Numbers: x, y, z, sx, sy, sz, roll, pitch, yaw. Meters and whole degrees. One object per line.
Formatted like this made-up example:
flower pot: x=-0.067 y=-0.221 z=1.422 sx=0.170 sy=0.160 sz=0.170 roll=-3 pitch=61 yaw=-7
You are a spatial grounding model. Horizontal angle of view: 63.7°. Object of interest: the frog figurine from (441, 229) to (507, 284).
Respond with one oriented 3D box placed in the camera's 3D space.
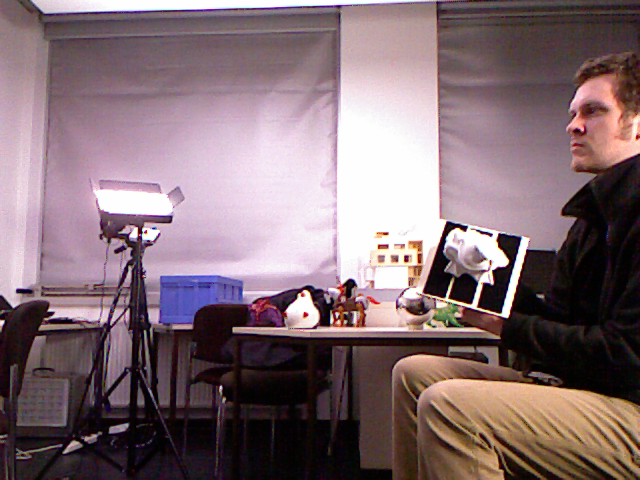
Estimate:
frog figurine: x=0.334 y=0.020 z=1.118 sx=0.139 sy=0.124 sz=0.156 roll=34 pitch=-19 yaw=24
